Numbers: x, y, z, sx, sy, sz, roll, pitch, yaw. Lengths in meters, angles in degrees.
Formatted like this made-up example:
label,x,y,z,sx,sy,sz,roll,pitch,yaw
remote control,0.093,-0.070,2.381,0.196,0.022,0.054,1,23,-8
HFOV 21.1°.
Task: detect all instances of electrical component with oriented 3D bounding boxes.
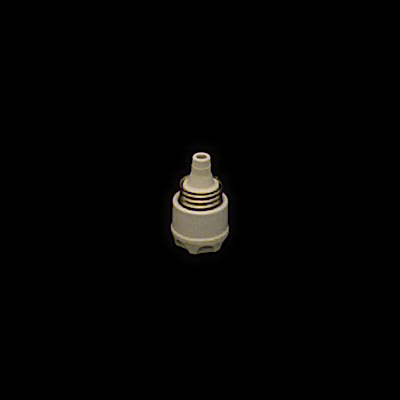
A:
label,x,y,z,sx,sy,sz,roll,pitch,yaw
electrical component,0.000,0.000,0.646,0.035,0.062,0.034,2,31,-1
